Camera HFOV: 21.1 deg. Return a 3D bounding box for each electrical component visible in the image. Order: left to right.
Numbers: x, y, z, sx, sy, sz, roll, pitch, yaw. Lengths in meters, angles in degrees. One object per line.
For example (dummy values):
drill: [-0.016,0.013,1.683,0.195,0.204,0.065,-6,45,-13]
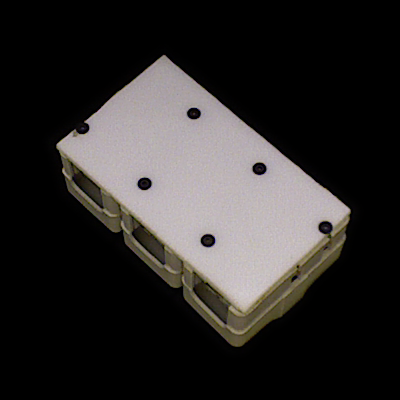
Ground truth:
electrical component: [0.000,0.000,0.631,0.089,0.149,0.062,-42,-19,-19]
